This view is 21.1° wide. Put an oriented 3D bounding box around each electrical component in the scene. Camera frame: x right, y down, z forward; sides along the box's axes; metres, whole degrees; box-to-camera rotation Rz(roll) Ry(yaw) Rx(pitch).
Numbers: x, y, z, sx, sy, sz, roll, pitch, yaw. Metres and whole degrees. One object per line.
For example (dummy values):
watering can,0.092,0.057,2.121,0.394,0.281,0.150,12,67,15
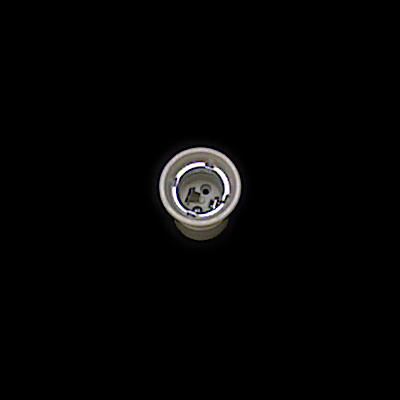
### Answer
electrical component,0.000,0.000,0.623,0.044,0.044,0.065,0,-16,0
